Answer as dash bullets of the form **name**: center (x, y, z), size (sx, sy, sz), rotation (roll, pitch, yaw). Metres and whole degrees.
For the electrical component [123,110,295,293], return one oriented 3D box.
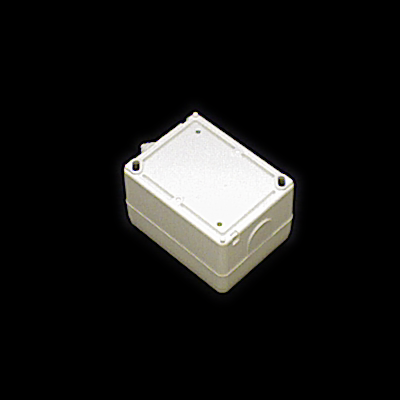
- **electrical component**: center (0.000, -0.001, 0.630), size (0.095, 0.061, 0.062), rotation (37, 61, 25)
